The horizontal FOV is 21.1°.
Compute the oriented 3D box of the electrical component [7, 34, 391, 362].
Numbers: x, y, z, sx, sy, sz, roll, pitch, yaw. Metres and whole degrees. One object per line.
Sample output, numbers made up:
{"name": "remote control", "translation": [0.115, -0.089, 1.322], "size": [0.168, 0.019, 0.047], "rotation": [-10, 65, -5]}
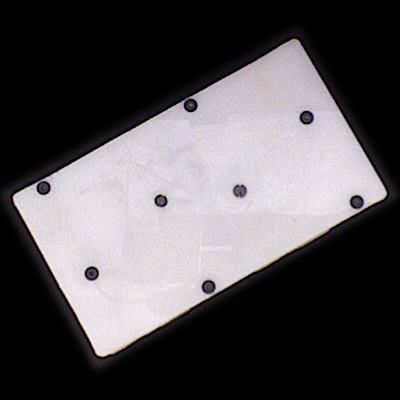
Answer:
{"name": "electrical component", "translation": [0.000, 0.000, 0.626], "size": [0.186, 0.106, 0.060], "rotation": [-29, -6, -3]}
